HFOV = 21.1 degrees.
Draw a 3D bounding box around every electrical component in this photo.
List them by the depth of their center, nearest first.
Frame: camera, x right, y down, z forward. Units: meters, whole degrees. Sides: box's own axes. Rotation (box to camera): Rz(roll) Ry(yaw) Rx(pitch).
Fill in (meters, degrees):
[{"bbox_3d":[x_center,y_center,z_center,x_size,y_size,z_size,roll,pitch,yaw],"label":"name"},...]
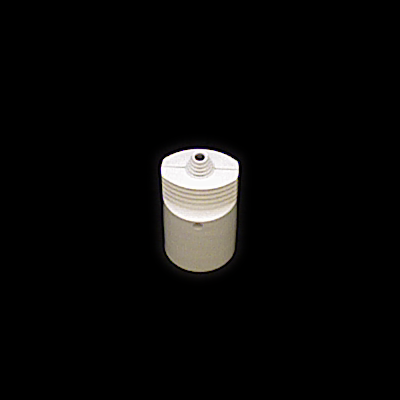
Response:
[{"bbox_3d":[0.000,0.000,0.619,0.043,0.043,0.081,0,-38,0],"label":"electrical component"}]
